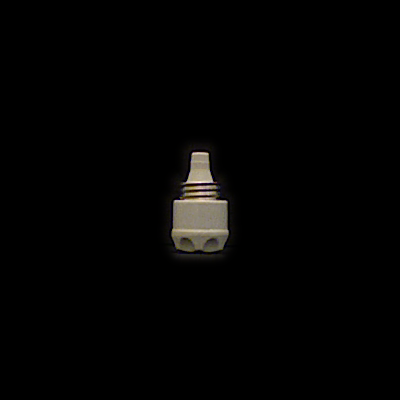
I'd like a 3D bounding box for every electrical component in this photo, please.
[{"bbox_3d":[0.000,0.000,0.661,0.035,0.061,0.035,0,2,0],"label":"electrical component"}]
